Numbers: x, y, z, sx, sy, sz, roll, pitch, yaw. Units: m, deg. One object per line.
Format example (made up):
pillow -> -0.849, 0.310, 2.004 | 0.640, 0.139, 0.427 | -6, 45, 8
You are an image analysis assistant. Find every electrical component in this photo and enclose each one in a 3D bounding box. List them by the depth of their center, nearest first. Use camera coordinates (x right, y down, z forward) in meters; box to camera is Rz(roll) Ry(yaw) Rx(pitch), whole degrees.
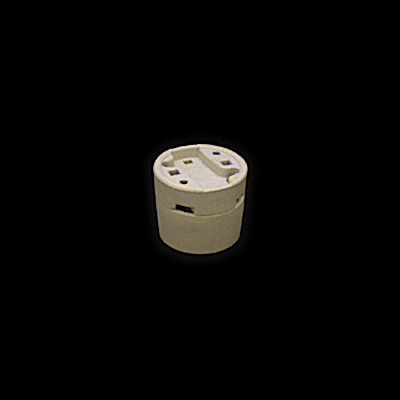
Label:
electrical component -> 0.000, 0.000, 0.638 | 0.055, 0.047, 0.055 | 1, 31, 0
